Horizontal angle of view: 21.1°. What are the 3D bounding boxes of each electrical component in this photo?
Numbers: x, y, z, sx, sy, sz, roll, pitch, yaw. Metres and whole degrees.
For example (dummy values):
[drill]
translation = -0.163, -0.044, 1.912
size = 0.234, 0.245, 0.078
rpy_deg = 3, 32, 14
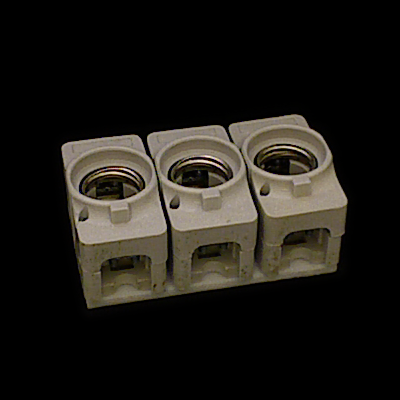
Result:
[electrical component]
translation = 0.000, 0.000, 0.636
size = 0.150, 0.063, 0.088
rpy_deg = -8, 43, -10
